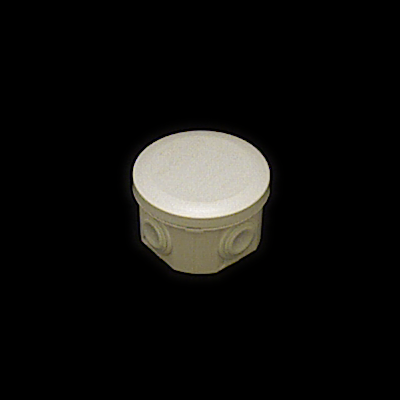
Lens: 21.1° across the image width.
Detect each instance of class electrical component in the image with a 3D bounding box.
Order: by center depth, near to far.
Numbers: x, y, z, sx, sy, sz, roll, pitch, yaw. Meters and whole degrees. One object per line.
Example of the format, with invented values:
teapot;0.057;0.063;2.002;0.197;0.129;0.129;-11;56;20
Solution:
electrical component;0.000;0.000;0.635;0.080;0.051;0.079;1;42;0
